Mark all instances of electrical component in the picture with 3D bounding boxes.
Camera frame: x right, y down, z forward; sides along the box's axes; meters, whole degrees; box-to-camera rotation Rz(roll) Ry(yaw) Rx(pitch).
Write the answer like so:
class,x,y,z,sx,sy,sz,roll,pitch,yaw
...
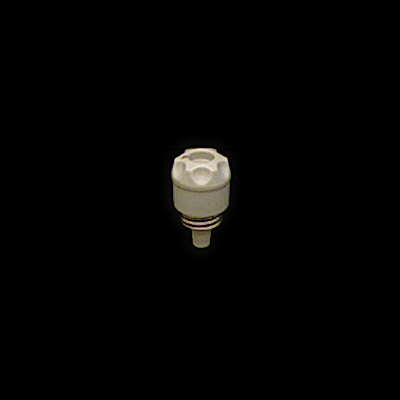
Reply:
class,x,y,z,sx,sy,sz,roll,pitch,yaw
electrical component,0.000,0.000,0.642,0.035,0.062,0.034,1,32,0
